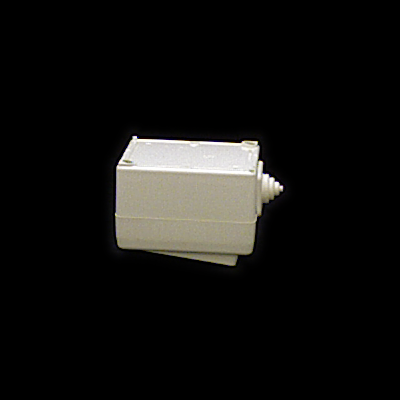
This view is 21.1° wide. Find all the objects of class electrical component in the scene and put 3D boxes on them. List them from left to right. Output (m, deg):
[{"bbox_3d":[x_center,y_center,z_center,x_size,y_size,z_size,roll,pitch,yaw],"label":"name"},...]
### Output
[{"bbox_3d":[0.000,0.000,0.640,0.096,0.061,0.061,2,20,5],"label":"electrical component"}]
